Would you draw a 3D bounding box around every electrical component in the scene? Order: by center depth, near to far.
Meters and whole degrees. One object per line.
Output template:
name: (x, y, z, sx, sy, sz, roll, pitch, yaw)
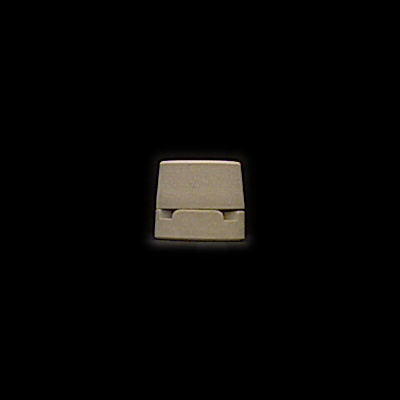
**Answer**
electrical component: (0.000, 0.000, 0.650, 0.055, 0.047, 0.055, 0, 0, 0)
